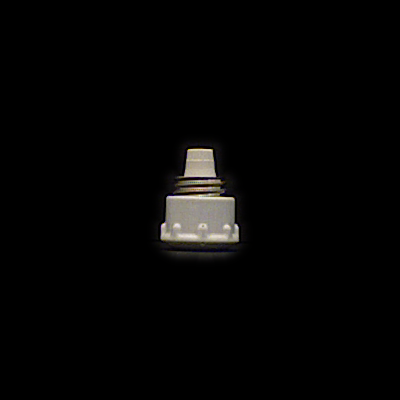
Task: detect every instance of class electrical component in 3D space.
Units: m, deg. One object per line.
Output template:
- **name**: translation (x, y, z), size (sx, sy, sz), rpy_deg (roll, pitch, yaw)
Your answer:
- **electrical component**: translation (0.000, 0.000, 0.656), size (0.048, 0.062, 0.048), rpy_deg (1, 1, 1)
